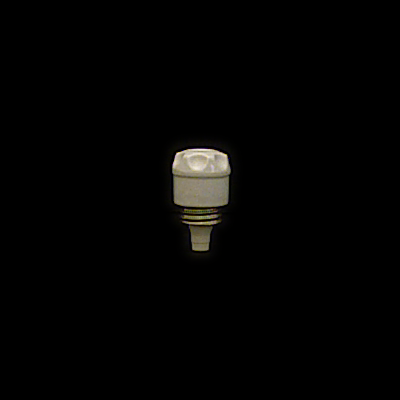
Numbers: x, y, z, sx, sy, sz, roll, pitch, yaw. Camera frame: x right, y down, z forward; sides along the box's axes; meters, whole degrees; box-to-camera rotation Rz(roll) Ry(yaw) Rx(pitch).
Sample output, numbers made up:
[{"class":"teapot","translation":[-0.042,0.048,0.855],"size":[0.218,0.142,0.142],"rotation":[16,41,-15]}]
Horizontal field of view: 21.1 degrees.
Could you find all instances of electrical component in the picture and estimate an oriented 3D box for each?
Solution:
[{"class":"electrical component","translation":[0.000,0.000,0.652],"size":[0.035,0.062,0.035],"rotation":[1,12,0]}]
